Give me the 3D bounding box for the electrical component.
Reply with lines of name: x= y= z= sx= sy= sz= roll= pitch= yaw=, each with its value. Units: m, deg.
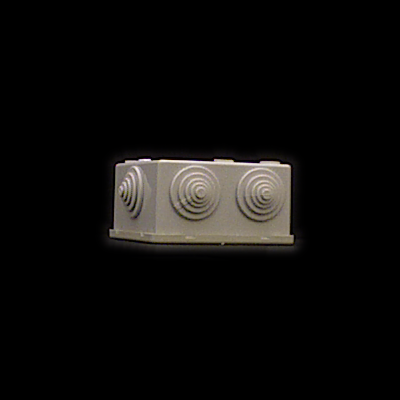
electrical component: x=0.000 y=0.000 z=0.650 sx=0.100 sy=0.048 sz=0.099 roll=1 pitch=0 yaw=-22
